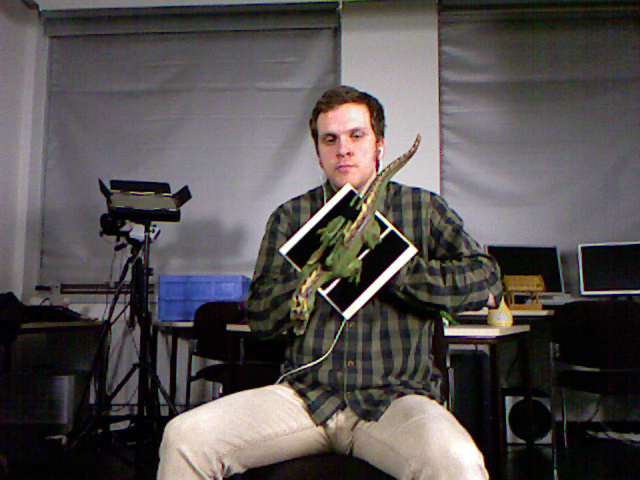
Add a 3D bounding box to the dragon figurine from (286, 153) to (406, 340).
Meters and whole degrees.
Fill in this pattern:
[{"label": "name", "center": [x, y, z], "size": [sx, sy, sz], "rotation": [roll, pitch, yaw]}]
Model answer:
[{"label": "dragon figurine", "center": [0.052, -0.012, 0.938], "size": [0.123, 0.413, 0.243], "rotation": [29, -3, 5]}]
